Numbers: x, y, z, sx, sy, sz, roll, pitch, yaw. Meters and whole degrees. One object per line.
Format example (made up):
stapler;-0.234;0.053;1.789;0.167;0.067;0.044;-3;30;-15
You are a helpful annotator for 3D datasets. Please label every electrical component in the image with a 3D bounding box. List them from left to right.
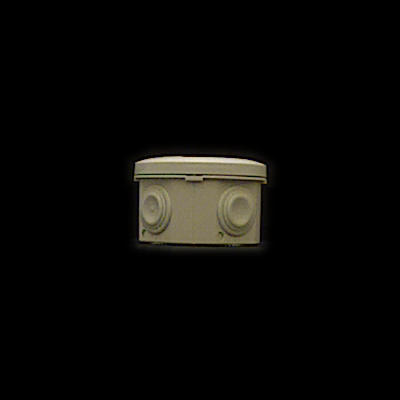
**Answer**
electrical component;0.000;0.000;0.651;0.080;0.051;0.080;1;0;0
